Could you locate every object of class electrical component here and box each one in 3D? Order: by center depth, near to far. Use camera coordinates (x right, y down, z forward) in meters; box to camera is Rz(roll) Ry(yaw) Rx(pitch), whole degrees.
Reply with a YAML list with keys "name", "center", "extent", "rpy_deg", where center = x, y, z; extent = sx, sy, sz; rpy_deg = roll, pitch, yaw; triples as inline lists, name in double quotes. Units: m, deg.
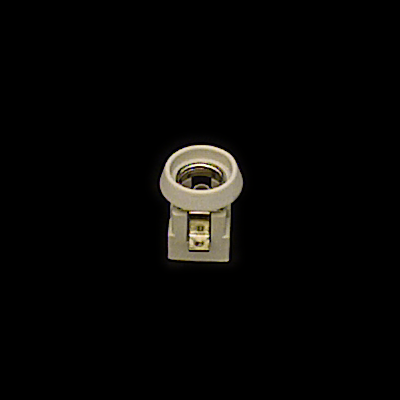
- name: "electrical component"
  center: [0.000, 0.000, 0.639]
  extent: [0.048, 0.056, 0.066]
  rpy_deg: [-1, 43, 2]
